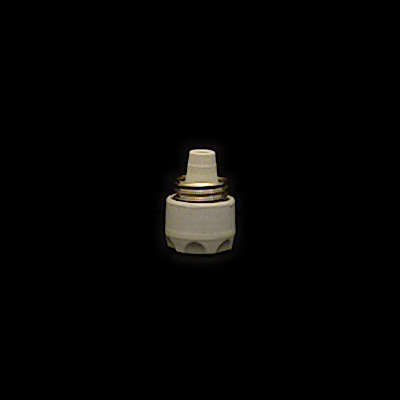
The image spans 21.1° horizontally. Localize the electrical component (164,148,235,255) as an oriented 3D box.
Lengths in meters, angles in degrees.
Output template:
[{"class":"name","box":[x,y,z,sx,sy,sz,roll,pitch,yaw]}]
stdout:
[{"class":"electrical component","box":[0.000,0.000,0.650,0.043,0.062,0.043,1,13,0]}]
